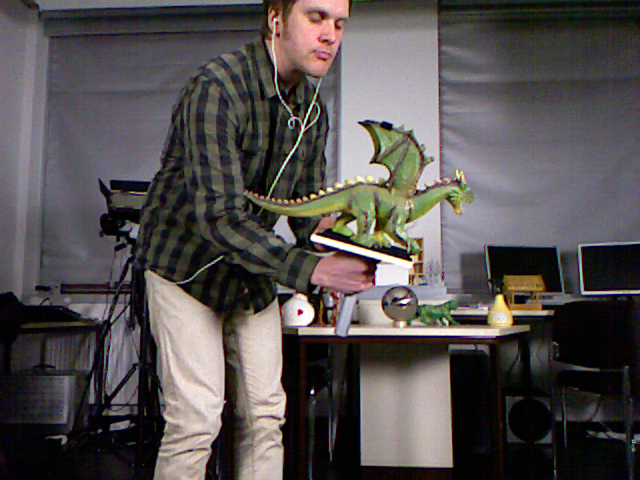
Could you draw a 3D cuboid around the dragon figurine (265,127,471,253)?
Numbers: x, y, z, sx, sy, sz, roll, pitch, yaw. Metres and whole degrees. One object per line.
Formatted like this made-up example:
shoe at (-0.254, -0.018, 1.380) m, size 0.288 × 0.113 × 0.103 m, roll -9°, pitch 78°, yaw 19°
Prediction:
dragon figurine at (0.115, -0.113, 1.050) m, size 0.411 × 0.241 × 0.124 m, roll 15°, pitch 10°, yaw -9°
